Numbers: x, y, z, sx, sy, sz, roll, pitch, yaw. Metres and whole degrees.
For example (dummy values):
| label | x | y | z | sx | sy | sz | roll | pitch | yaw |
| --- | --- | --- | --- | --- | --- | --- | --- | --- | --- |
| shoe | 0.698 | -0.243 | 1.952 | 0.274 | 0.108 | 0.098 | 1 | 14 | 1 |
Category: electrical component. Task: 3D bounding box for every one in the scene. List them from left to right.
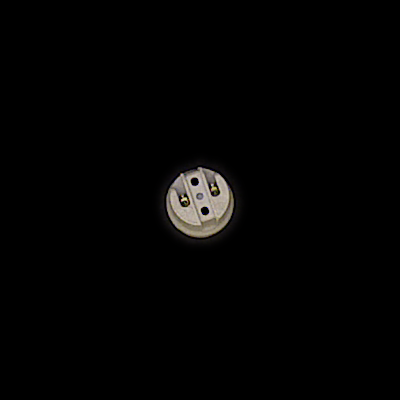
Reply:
| label | x | y | z | sx | sy | sz | roll | pitch | yaw |
| --- | --- | --- | --- | --- | --- | --- | --- | --- | --- |
| electrical component | 0.000 | 0.000 | 0.635 | 0.040 | 0.040 | 0.046 | 0 | -6 | 0 |
